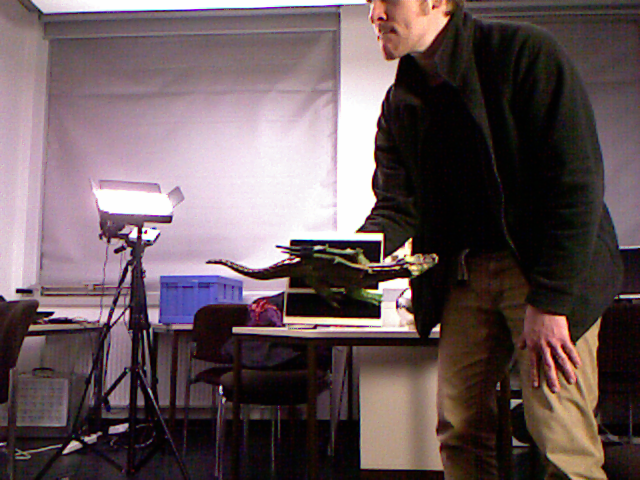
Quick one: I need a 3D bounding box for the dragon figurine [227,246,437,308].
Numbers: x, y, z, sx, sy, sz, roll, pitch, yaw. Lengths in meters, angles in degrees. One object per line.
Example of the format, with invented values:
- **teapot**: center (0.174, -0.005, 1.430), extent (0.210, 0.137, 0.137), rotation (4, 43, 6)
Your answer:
- **dragon figurine**: center (0.005, 0.046, 0.957), extent (0.411, 0.124, 0.240), rotation (1, -17, 4)
